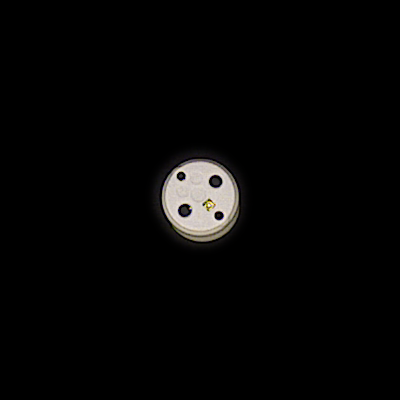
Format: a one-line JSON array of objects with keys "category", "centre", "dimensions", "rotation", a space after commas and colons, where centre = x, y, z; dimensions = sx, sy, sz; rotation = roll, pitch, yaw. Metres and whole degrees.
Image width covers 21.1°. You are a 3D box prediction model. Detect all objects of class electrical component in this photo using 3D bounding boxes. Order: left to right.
[{"category": "electrical component", "centre": [0.000, 0.000, 0.629], "dimensions": [0.045, 0.045, 0.055], "rotation": [0, -6, 1]}]
